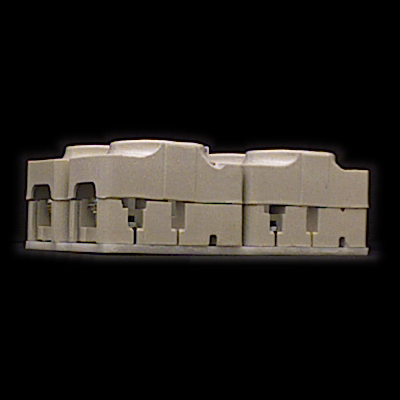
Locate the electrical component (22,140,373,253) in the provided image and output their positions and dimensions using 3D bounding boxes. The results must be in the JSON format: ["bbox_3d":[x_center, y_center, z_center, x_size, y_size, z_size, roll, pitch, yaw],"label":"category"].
[{"bbox_3d":[0.000,0.000,0.651,0.187,0.060,0.105,2,-1,-33],"label":"electrical component"}]
